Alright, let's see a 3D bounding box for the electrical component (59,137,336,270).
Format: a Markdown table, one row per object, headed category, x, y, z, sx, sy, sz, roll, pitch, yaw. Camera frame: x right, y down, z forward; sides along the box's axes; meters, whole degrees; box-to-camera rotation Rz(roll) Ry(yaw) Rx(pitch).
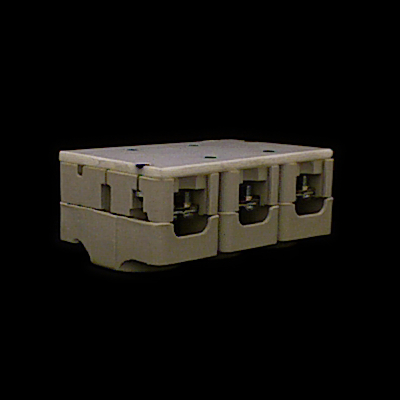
| category | x | y | z | sx | sy | sz | roll | pitch | yaw |
| --- | --- | --- | --- | --- | --- | --- | --- | --- | --- |
| electrical component | 0.000 | 0.000 | 0.654 | 0.150 | 0.062 | 0.089 | -8 | 14 | -44 |
